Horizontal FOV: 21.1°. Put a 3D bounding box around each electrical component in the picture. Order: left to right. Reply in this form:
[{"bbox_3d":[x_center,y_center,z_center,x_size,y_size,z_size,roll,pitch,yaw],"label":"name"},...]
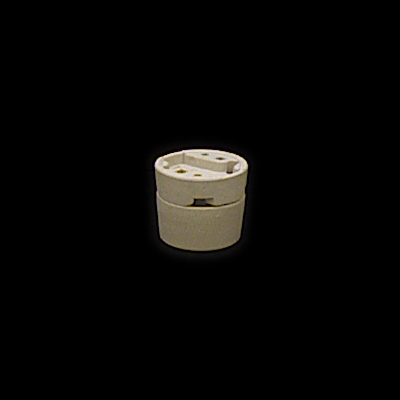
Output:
[{"bbox_3d":[0.000,0.000,0.642,0.055,0.047,0.055,1,21,0],"label":"electrical component"}]
